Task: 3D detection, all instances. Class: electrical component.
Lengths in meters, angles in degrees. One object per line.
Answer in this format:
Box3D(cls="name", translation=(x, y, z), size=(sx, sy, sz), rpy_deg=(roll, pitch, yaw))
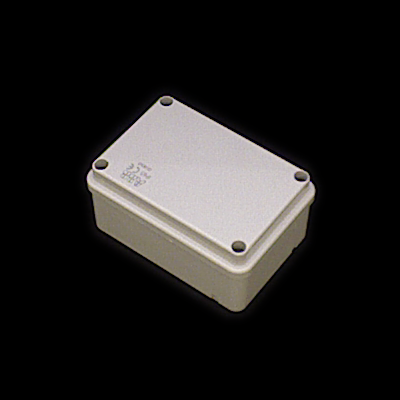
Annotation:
Box3D(cls="electrical component", translation=(0.000, 0.000, 0.627), size=(0.113, 0.078, 0.057), rpy_deg=(31, -32, 21))
